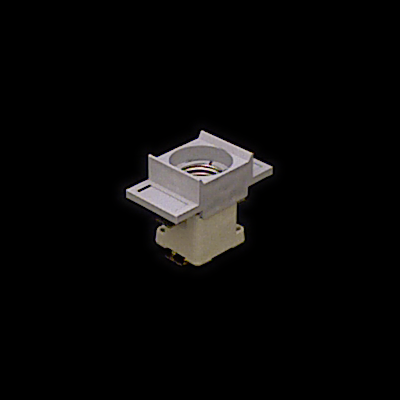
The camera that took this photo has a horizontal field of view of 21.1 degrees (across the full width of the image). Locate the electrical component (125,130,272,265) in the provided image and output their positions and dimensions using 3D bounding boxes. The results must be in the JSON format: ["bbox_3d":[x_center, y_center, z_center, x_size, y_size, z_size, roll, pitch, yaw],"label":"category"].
[{"bbox_3d":[0.000,0.000,0.635,0.080,0.064,0.042,-27,40,-37],"label":"electrical component"}]
